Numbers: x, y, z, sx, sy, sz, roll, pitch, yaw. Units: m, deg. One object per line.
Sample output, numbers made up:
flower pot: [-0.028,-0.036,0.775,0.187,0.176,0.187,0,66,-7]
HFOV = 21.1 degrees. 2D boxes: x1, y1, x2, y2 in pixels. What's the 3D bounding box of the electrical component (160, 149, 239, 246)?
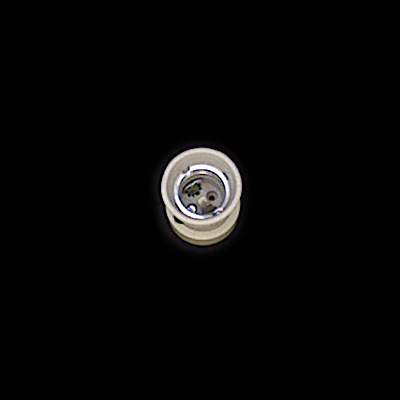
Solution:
electrical component: [0.000,0.000,0.628,0.045,0.045,0.055,0,-17,0]
